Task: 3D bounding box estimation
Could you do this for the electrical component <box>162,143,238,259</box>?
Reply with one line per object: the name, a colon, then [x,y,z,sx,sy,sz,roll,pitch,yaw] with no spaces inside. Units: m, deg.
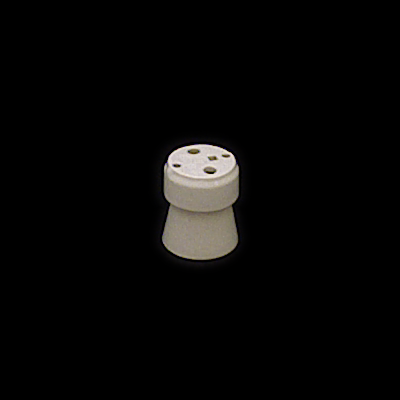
electrical component: [0.000,0.000,0.634,0.045,0.056,0.044,0,32,0]
